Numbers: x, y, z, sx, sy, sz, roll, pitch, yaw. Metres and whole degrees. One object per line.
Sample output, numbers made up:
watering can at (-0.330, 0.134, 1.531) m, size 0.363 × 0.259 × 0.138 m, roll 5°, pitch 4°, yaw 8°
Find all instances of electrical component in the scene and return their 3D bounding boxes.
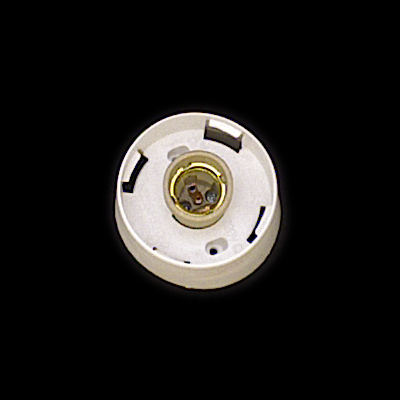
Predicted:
electrical component at (0.000, 0.000, 0.624) m, size 0.099 × 0.099 × 0.063 m, roll 0°, pitch -17°, yaw -1°
